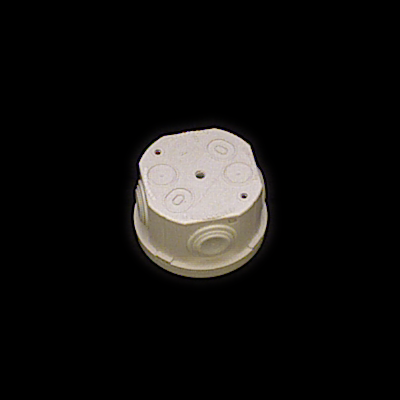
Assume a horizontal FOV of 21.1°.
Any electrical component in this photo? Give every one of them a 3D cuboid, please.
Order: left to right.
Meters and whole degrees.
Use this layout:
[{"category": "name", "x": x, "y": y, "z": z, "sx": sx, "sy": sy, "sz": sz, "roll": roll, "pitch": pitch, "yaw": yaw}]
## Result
[{"category": "electrical component", "x": 0.000, "y": 0.000, "z": 0.633, "sx": 0.080, "sy": 0.080, "sz": 0.051, "roll": 0, "pitch": -38, "yaw": 0}]
